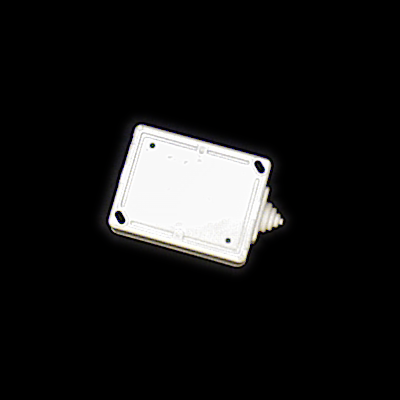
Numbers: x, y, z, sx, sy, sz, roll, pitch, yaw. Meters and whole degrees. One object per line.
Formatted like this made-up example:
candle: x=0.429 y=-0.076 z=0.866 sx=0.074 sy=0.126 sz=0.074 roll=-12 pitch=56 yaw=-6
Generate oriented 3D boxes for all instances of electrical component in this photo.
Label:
electrical component: x=0.000 y=0.001 z=0.627 sx=0.096 sy=0.062 sz=0.061 roll=15 pitch=-7 yaw=2
